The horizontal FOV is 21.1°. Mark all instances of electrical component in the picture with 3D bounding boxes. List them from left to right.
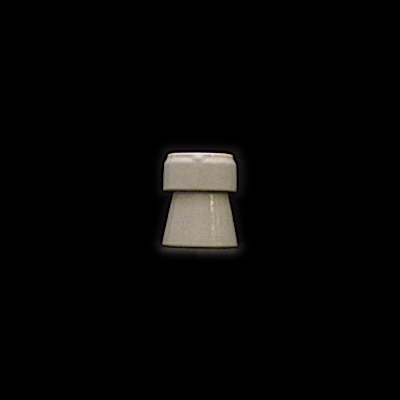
[{"bbox_3d":[0.000,0.000,0.649,0.045,0.055,0.045,1,0,0],"label":"electrical component"}]
